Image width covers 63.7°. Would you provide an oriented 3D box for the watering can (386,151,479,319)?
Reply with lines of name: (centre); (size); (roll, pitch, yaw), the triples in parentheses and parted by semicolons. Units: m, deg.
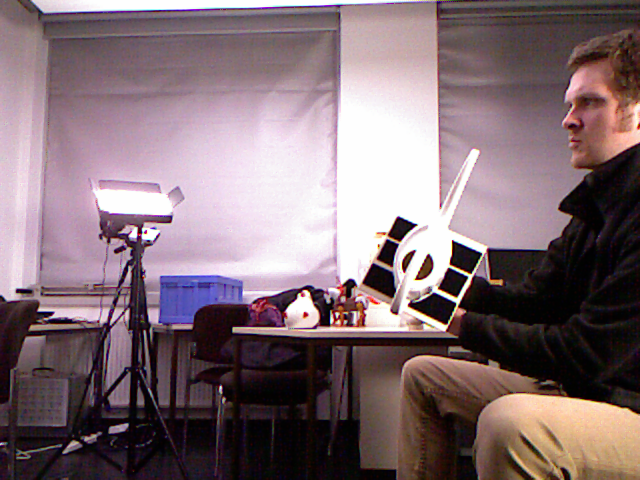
watering can: (0.225, 0.004, 1.030); (0.105, 0.351, 0.223); (28, -7, 13)
